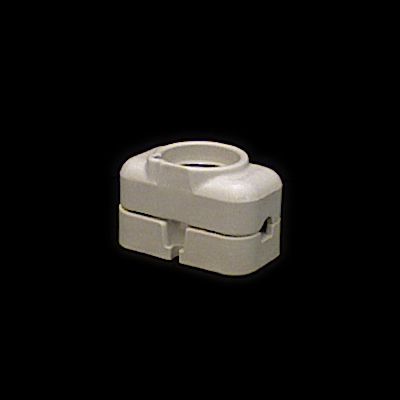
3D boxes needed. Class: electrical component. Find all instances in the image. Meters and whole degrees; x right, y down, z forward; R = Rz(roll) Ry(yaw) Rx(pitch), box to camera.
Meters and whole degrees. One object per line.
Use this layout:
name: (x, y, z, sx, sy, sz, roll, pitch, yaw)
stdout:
electrical component: (0.000, 0.000, 0.644, 0.094, 0.060, 0.053, 13, 25, 29)
